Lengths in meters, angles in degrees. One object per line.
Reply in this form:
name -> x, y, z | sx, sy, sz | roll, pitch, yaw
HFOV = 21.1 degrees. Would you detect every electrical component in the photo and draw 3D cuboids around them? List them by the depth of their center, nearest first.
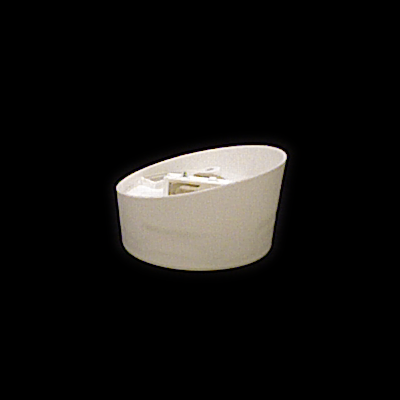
electrical component -> 0.000, 0.000, 0.638 | 0.099, 0.065, 0.097 | 2, 20, -1
